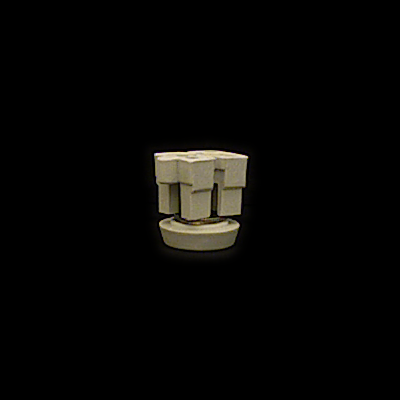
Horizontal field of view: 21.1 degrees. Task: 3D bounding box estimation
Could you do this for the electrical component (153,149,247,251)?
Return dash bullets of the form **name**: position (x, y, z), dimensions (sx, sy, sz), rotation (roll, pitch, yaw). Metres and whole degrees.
- **electrical component**: position (0.000, 0.000, 0.650), dimensions (0.067, 0.056, 0.048), rotation (-7, 13, -39)
